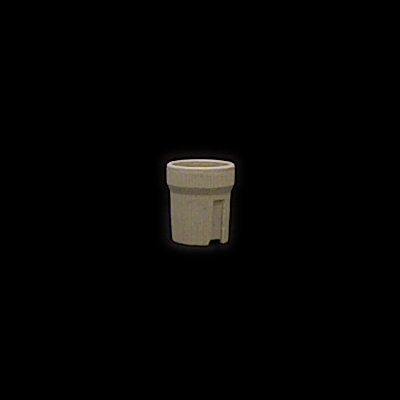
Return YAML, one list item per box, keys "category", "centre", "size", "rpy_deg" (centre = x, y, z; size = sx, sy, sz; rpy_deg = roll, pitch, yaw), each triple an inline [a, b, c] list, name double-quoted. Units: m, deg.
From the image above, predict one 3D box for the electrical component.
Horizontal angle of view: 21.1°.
- category: "electrical component"
  centre: [0.000, 0.000, 0.646]
  size: [0.040, 0.046, 0.040]
  rpy_deg: [1, 11, 0]
